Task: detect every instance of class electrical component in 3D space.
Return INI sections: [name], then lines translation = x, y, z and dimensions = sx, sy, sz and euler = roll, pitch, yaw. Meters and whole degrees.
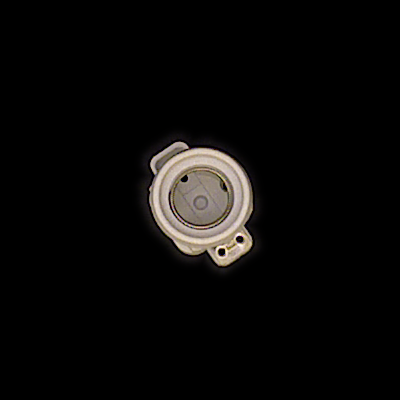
[electrical component]
translation = 0.000, 0.000, 0.630
dimensions = 0.058, 0.078, 0.056
euler = -34, -5, -3
